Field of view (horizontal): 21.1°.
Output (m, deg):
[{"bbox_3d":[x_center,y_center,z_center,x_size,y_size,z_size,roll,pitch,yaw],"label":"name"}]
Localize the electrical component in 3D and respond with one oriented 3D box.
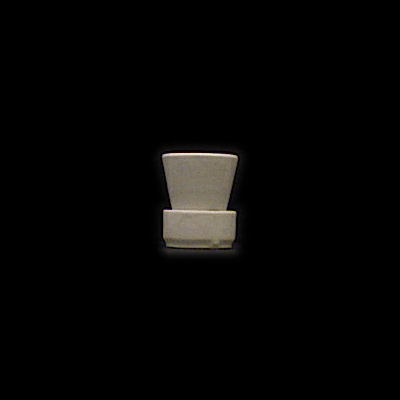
[{"bbox_3d":[0.000,0.000,0.648,0.045,0.055,0.045,0,1,0],"label":"electrical component"}]
